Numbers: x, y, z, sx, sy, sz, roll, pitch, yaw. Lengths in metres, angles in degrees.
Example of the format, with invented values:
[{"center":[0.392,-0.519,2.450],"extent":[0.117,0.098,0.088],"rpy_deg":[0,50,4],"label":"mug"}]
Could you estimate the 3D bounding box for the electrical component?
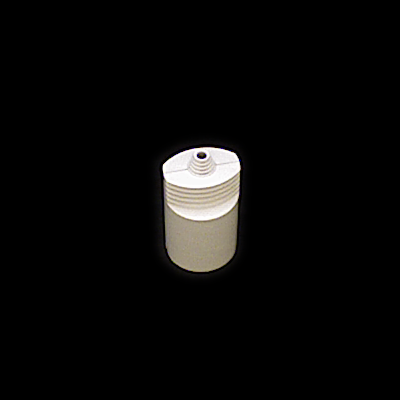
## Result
[{"center":[0.000,0.000,0.620],"extent":[0.043,0.043,0.081],"rpy_deg":[0,-38,0],"label":"electrical component"}]
